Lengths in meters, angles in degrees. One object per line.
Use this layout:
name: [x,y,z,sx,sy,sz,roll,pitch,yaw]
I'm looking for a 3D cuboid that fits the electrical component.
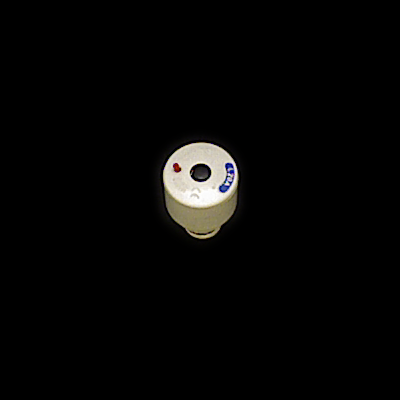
electrical component: [0.000,0.000,0.618,0.040,0.040,0.078,0,-27,1]
